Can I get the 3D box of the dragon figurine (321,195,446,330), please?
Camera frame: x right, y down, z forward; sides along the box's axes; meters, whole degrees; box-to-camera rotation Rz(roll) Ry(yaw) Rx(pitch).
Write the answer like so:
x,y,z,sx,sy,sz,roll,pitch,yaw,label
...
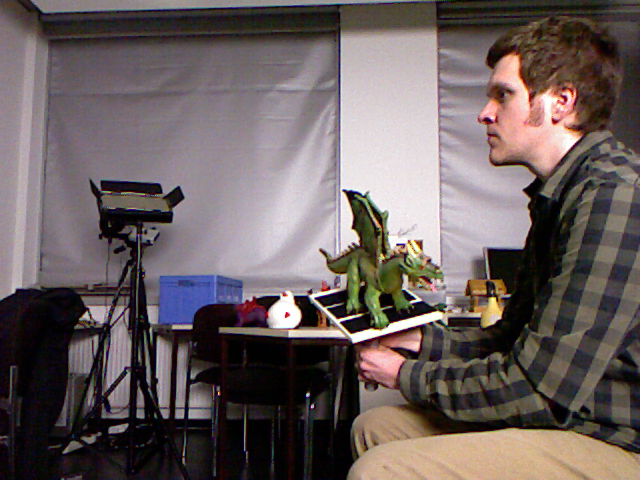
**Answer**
x,y,z,sx,sy,sz,roll,pitch,yaw,label
0.091,0.022,1.026,0.123,0.239,0.415,-18,26,-27,dragon figurine
